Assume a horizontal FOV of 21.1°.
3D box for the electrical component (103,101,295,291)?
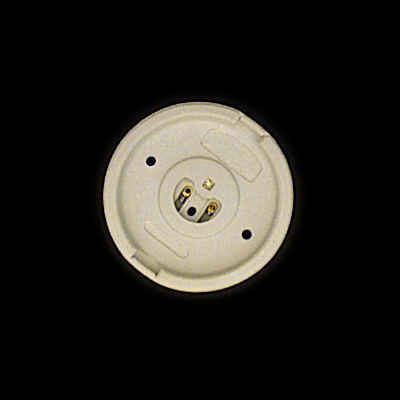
[{"bbox_3d":[0.000,0.000,0.636,0.108,0.108,0.060,0,-6,0],"label":"electrical component"}]
